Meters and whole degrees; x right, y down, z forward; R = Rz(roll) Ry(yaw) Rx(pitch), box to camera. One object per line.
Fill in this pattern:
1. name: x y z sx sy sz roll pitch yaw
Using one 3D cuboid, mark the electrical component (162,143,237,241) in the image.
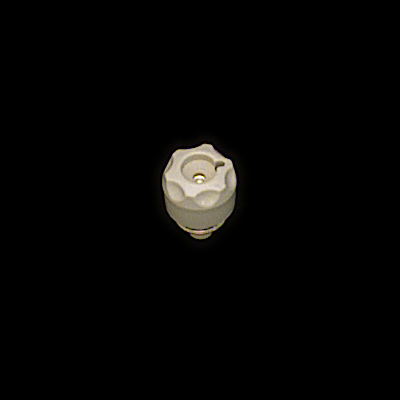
1. electrical component: 0.000 0.000 0.635 0.043 0.043 0.062 0 -37 1
